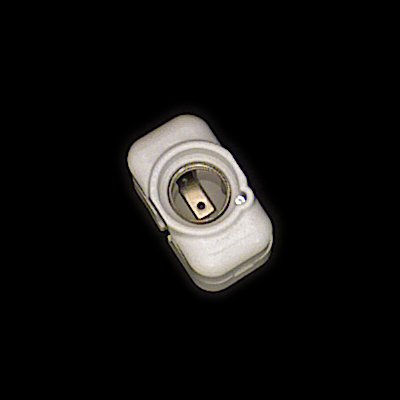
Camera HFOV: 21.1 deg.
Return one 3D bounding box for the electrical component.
[{"bbox_3d":[0.000,0.000,0.634,0.054,0.095,0.059,-32,-13,-8],"label":"electrical component"}]
